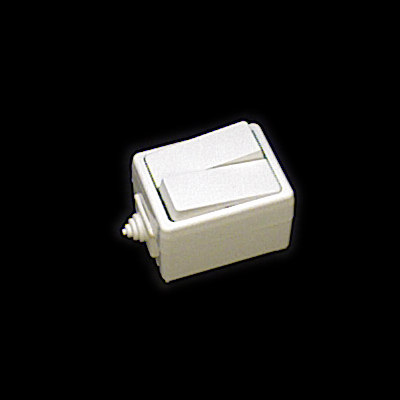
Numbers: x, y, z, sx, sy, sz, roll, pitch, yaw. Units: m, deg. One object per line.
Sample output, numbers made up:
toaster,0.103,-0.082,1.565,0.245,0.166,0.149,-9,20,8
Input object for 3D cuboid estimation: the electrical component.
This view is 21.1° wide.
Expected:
electrical component,0.000,0.000,0.627,0.096,0.061,0.061,-15,-36,-12
